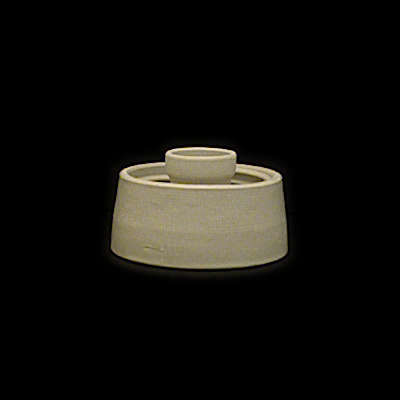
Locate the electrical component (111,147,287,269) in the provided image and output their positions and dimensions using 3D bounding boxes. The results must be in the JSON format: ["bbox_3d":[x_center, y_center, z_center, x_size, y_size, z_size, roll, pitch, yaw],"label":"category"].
[{"bbox_3d":[0.000,0.000,0.652,0.108,0.061,0.107,1,11,0],"label":"electrical component"}]
